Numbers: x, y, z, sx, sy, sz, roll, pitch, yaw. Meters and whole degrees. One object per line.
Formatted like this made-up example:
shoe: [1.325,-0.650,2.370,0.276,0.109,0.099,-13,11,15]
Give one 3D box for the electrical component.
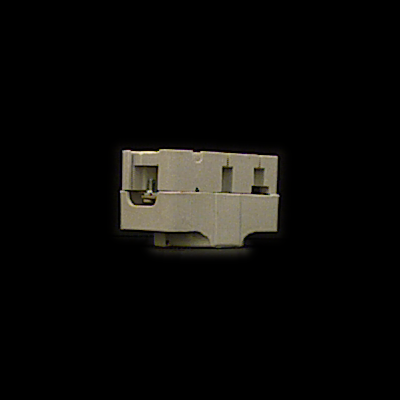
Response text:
electrical component: [0.000,0.000,0.656,0.090,0.056,0.049,0,3,-41]
